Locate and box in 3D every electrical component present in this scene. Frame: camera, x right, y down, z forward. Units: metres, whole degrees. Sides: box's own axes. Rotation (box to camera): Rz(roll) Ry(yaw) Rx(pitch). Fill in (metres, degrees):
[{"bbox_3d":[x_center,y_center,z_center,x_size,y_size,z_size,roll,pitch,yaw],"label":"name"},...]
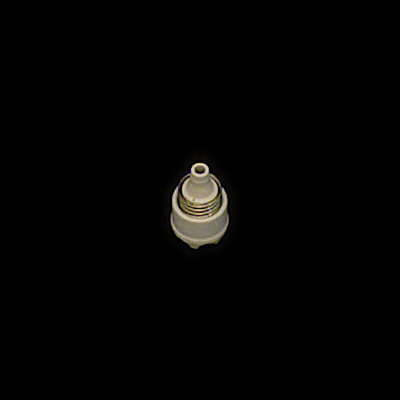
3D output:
[{"bbox_3d":[0.000,0.000,0.641,0.035,0.035,0.062,0,-36,0],"label":"electrical component"}]
